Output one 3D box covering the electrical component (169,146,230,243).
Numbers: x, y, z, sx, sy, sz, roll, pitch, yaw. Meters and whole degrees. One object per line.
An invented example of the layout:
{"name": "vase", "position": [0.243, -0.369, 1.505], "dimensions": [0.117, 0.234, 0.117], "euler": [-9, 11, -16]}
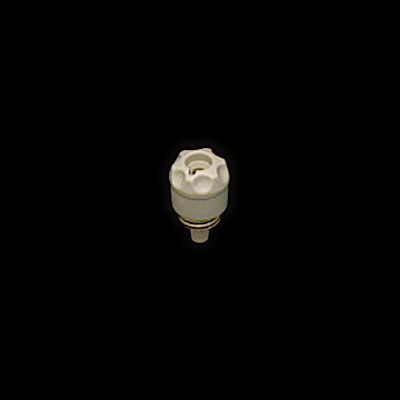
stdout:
{"name": "electrical component", "position": [0.000, 0.000, 0.636], "dimensions": [0.035, 0.062, 0.035], "euler": [0, 43, 0]}
